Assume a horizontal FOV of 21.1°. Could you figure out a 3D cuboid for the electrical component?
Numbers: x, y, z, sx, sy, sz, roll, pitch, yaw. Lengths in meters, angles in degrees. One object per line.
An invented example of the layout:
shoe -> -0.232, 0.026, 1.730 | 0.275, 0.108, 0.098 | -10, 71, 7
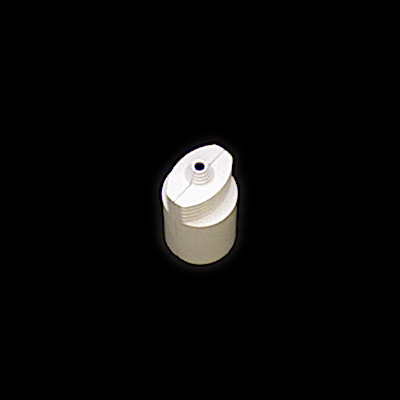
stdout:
electrical component -> 0.000, 0.000, 0.617 | 0.043, 0.043, 0.081 | 0, -27, 0
